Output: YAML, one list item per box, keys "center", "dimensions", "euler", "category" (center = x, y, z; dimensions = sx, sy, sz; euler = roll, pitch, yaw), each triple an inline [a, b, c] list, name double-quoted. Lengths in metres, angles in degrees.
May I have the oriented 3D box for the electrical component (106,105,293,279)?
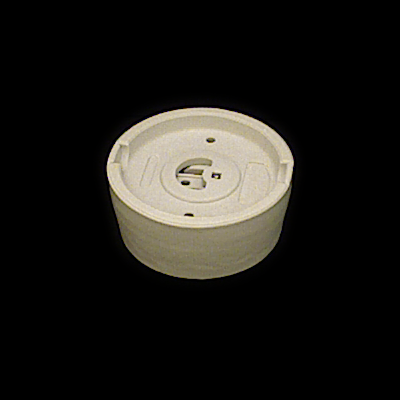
- center: [0.000, 0.000, 0.639]
  dimensions: [0.108, 0.061, 0.106]
  euler: [0, 42, 0]
  category: "electrical component"
